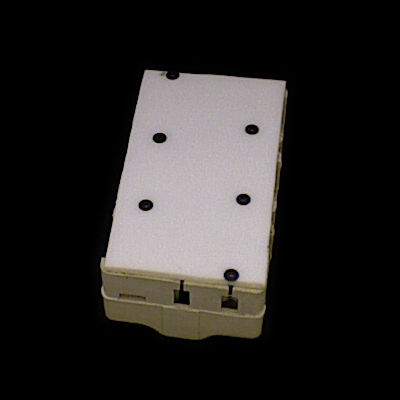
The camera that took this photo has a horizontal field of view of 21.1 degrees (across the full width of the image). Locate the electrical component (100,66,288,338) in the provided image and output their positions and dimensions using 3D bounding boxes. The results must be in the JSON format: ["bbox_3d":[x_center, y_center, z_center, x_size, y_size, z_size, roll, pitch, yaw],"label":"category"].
[{"bbox_3d":[0.000,0.000,0.631,0.089,0.148,0.062,6,-37,4],"label":"electrical component"}]
